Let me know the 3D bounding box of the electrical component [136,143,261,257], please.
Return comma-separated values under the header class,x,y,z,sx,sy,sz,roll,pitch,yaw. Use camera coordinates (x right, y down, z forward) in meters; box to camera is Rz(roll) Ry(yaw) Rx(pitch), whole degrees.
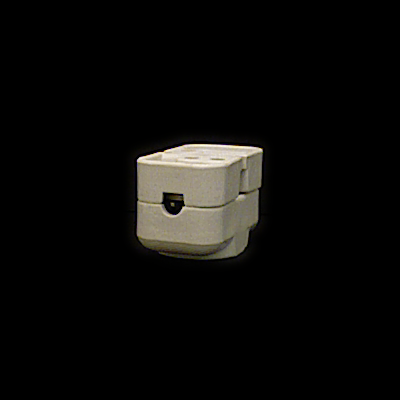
class,x,y,z,sx,sy,sz,roll,pitch,yaw
electrical component,0.000,0.000,0.652,0.053,0.060,0.095,5,11,20
